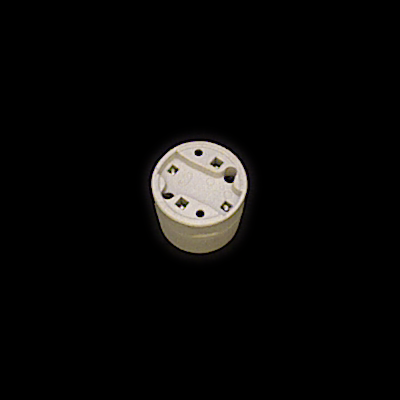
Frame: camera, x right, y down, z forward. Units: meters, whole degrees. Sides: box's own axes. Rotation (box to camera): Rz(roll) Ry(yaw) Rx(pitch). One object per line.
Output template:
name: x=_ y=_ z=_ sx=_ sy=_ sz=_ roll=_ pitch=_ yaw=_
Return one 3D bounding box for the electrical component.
electrical component: x=0.000 y=0.000 z=0.634 sx=0.055 sy=0.056 sz=0.047 roll=0 pitch=-27 yaw=0
